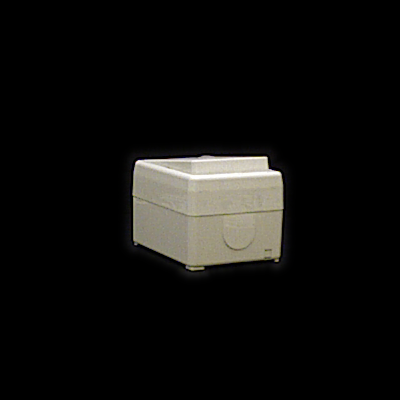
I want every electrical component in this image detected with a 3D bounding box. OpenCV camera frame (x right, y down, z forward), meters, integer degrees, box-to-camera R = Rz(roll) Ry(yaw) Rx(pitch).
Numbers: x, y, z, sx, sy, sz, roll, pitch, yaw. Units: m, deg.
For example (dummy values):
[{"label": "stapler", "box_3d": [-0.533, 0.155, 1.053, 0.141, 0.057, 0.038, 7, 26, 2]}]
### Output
[{"label": "electrical component", "box_3d": [0.000, 0.000, 0.646, 0.062, 0.061, 0.095, -5, 12, -28]}]
